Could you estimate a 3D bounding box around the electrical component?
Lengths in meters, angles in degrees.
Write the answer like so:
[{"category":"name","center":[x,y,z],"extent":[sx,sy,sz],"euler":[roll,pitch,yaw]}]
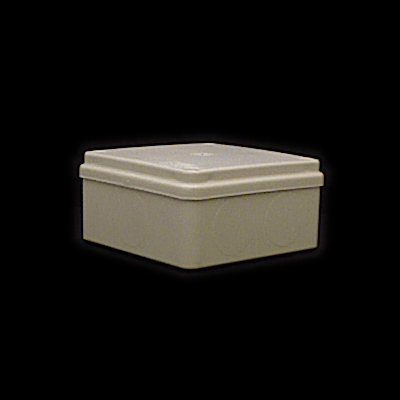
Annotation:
[{"category":"electrical component","center":[0.000,0.000,0.646],"extent":[0.109,0.056,0.108],"euler":[-7,13,-40]}]
